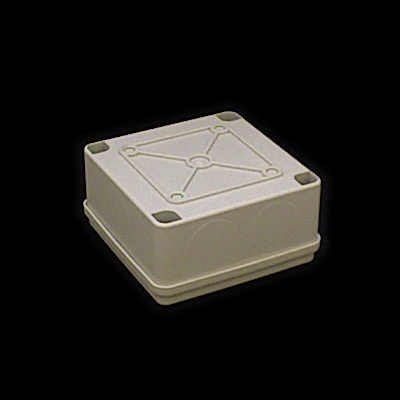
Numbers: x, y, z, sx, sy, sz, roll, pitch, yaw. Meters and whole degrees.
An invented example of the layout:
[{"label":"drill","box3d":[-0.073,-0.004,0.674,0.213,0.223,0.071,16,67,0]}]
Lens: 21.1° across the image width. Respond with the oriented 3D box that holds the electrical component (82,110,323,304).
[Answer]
[{"label":"electrical component","box3d":[0.000,0.000,0.634,0.109,0.057,0.107,-15,35,-25]}]
